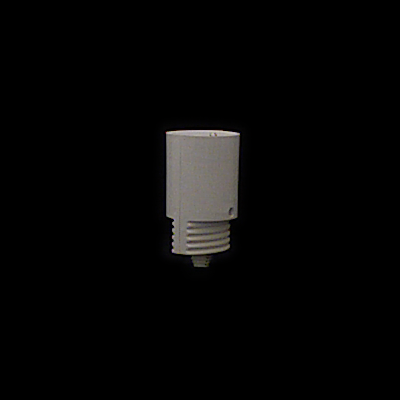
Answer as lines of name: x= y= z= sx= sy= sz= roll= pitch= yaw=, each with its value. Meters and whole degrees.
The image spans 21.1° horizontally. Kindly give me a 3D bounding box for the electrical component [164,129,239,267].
electrical component: x=0.000 y=0.000 z=0.645 sx=0.043 sy=0.082 sz=0.043 roll=2 pitch=11 yaw=0
